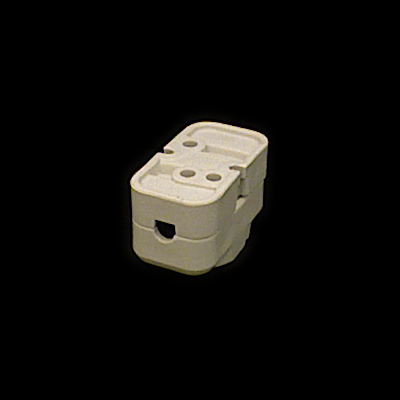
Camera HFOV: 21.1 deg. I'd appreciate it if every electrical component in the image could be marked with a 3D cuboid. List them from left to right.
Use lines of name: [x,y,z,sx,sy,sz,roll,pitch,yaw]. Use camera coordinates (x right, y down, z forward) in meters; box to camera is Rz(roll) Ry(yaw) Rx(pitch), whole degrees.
electrical component: [0.000,0.000,0.642,0.053,0.060,0.094,15,34,21]
